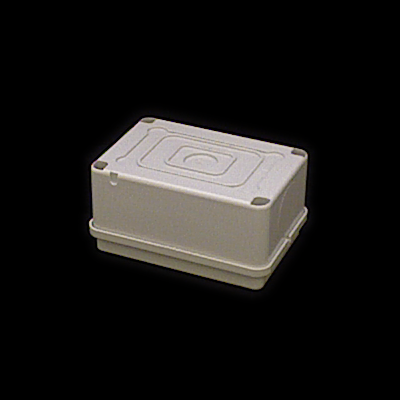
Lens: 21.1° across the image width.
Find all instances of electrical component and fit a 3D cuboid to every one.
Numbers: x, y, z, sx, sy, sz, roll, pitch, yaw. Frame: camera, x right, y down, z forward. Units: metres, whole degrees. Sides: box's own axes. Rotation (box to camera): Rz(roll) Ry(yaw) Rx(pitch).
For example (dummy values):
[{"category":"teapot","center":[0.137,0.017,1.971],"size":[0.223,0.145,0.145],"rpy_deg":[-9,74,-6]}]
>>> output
[{"category":"electrical component","center":[0.000,0.000,0.635],"size":[0.113,0.058,0.077],"rpy_deg":[14,33,19]}]
